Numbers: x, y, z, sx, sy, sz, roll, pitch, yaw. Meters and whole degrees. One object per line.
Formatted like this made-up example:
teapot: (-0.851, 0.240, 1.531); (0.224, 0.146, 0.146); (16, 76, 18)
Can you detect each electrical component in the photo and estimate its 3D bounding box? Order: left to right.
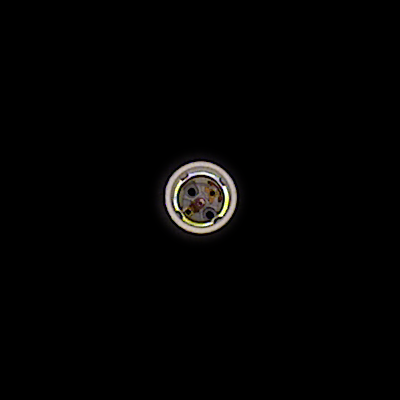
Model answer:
electrical component: (0.000, 0.000, 0.627); (0.040, 0.040, 0.046); (0, -6, 0)
